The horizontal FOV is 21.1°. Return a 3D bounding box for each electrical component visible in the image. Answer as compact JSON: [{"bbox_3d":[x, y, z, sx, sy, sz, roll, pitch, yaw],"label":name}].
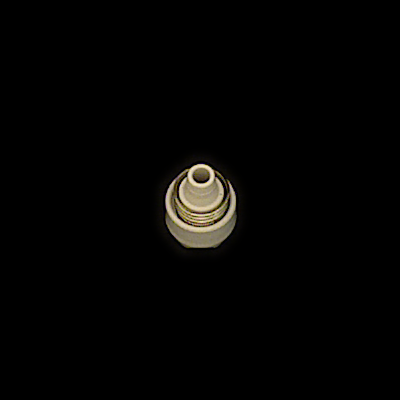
[{"bbox_3d":[0.000,0.000,0.634,0.043,0.043,0.062,0,-28,-1],"label":"electrical component"}]
